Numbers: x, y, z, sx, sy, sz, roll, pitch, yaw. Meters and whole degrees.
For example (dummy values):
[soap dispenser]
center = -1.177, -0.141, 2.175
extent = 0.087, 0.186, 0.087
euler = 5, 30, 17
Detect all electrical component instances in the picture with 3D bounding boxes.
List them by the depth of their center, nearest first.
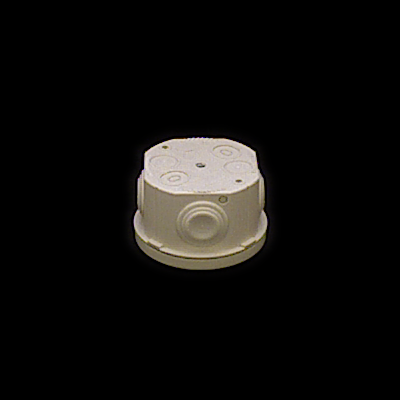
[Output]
[electrical component]
center = 0.000, 0.000, 0.638
extent = 0.080, 0.051, 0.079
euler = 0, 31, 0
